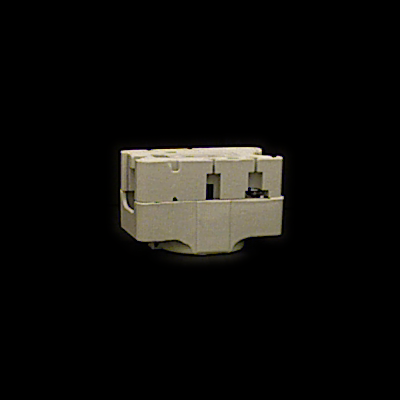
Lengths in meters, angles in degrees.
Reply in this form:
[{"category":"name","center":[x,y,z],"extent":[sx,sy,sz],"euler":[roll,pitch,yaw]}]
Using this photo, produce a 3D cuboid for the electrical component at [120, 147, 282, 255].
[{"category":"electrical component","center":[0.000,0.000,0.650],"extent":[0.090,0.056,0.049],"euler":[-3,13,-18]}]
